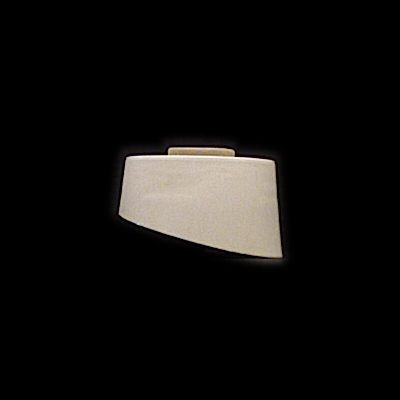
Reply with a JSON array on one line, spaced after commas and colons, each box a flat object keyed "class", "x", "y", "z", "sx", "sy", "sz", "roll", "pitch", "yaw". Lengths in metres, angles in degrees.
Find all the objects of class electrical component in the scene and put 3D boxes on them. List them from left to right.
[{"class": "electrical component", "x": 0.000, "y": 0.000, "z": 0.649, "sx": 0.099, "sy": 0.064, "sz": 0.099, "roll": 2, "pitch": 0, "yaw": 0}]
